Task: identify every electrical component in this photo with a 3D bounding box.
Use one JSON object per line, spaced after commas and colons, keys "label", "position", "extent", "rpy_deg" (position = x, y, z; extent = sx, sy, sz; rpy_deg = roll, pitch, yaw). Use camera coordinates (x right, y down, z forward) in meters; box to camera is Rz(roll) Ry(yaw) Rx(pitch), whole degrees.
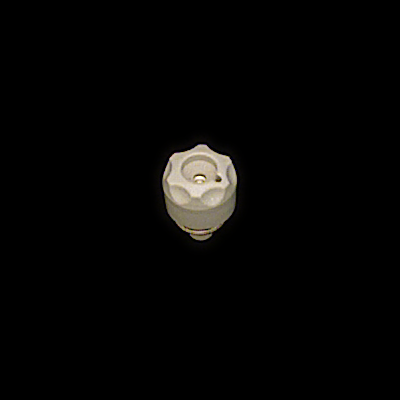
{"label": "electrical component", "position": [0.000, 0.000, 0.635], "extent": [0.043, 0.043, 0.062], "rpy_deg": [0, -37, 1]}
